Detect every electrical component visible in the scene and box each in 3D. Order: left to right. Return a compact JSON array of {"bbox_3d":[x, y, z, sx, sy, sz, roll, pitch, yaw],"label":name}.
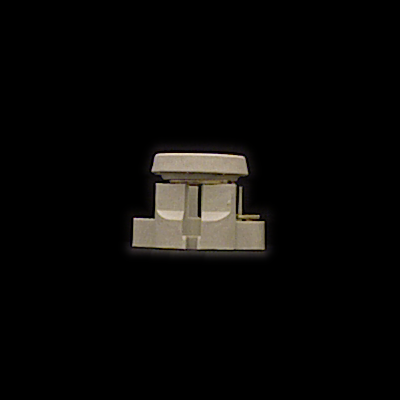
[{"bbox_3d":[0.000,0.000,0.650,0.078,0.057,0.058,1,1,10],"label":"electrical component"}]
